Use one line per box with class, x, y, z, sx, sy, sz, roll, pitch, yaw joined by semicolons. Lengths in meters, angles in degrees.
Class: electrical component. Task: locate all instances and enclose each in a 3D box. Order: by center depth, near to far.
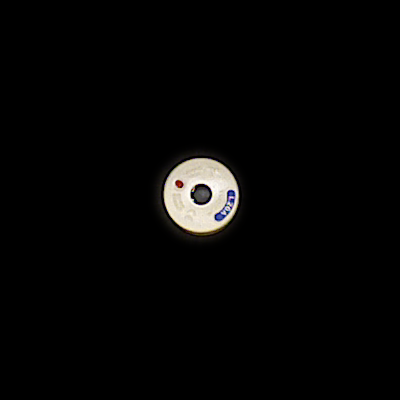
electrical component;0.000;0.000;0.618;0.040;0.040;0.078;0;-6;1
